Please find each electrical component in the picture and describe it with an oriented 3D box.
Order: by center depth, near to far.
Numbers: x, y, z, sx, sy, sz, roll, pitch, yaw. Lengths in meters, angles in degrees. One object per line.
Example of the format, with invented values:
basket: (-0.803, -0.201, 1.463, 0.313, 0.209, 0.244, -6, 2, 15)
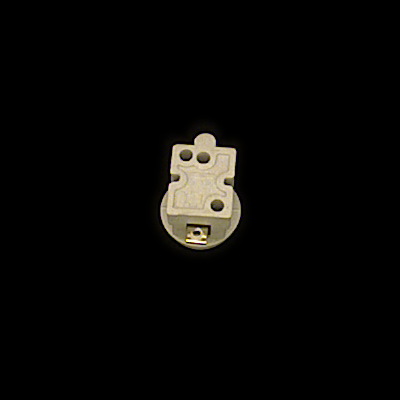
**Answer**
electrical component: (0.000, 0.000, 0.638, 0.048, 0.066, 0.055, 5, -26, 1)
